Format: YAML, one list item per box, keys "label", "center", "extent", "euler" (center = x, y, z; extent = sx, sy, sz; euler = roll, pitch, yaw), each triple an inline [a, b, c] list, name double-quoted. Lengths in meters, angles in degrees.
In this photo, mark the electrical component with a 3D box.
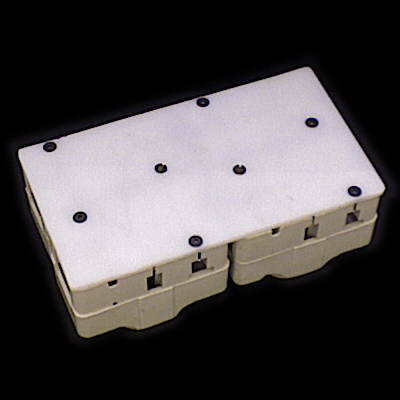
- label: "electrical component"
  center: [0.000, 0.000, 0.627]
  extent: [0.186, 0.105, 0.060]
  euler: [-17, -36, -14]
